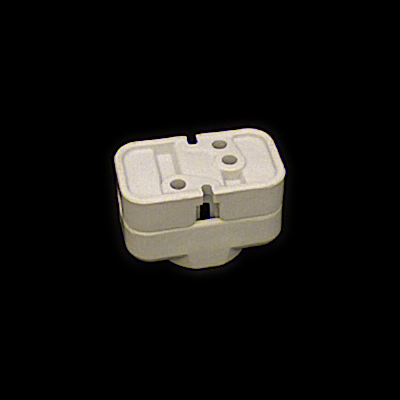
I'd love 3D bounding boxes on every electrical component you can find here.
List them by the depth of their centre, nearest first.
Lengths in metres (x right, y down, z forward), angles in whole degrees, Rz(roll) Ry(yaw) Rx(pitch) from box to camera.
[{"bbox_3d":[0.000,0.000,0.639,0.095,0.060,0.053,-8,43,-9],"label":"electrical component"}]
